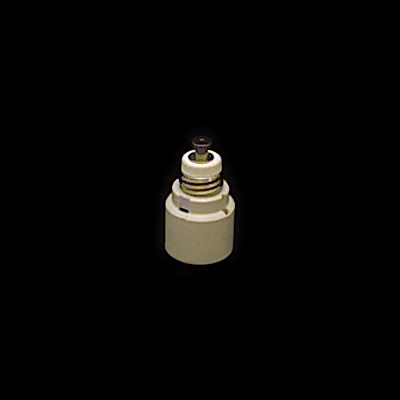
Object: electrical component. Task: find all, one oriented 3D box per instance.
[{"bbox_3d":[0.000,0.000,0.630,0.040,0.079,0.039,2,31,-1],"label":"electrical component"}]
